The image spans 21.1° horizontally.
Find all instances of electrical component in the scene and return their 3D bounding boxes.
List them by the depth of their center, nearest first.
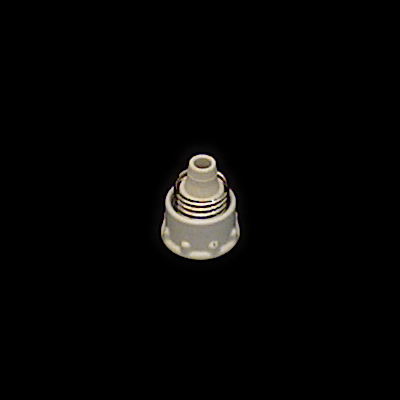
[{"bbox_3d":[0.000,0.000,0.638,0.048,0.062,0.047,1,43,-1],"label":"electrical component"}]
